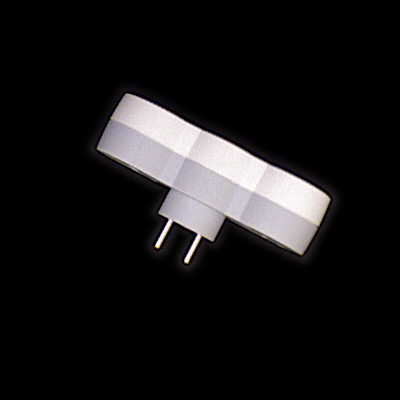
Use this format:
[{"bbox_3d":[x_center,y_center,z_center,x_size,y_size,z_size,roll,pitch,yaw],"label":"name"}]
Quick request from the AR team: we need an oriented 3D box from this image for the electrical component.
[{"bbox_3d":[0.000,0.000,0.632,0.138,0.074,0.052,27,-4,2],"label":"electrical component"}]
